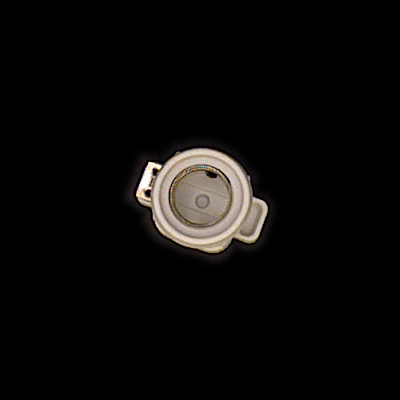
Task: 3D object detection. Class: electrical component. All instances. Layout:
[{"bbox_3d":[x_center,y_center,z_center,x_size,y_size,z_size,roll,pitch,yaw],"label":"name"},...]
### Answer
[{"bbox_3d":[0.000,0.000,0.630,0.078,0.058,0.056,20,-6,2],"label":"electrical component"}]
